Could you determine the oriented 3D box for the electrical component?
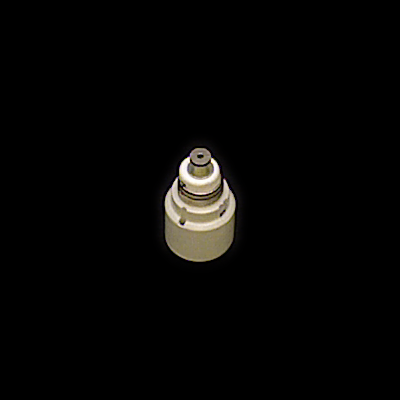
[{"bbox_3d":[0.000,0.000,0.620,0.040,0.040,0.078,0,-39,-1],"label":"electrical component"}]
